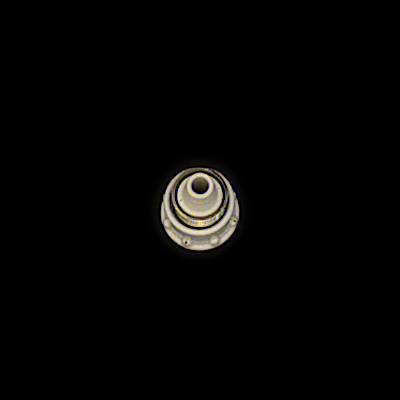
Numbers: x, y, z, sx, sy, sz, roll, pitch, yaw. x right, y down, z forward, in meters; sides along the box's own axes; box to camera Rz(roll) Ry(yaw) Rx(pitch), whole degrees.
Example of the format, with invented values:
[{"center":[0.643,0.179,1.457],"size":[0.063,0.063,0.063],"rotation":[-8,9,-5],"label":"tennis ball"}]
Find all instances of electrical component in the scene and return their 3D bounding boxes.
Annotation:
[{"center":[0.000,0.000,0.634],"size":[0.048,0.048,0.061],"rotation":[0,-16,-1],"label":"electrical component"}]
